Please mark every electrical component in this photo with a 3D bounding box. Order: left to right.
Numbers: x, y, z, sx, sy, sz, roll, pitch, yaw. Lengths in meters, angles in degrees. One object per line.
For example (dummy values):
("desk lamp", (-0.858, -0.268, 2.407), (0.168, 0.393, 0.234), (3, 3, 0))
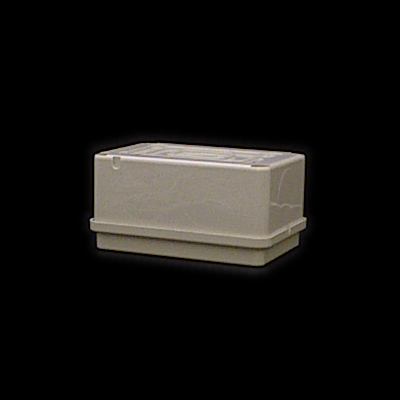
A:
("electrical component", (0.000, 0.000, 0.644), (0.113, 0.057, 0.078), (6, 11, 22))
